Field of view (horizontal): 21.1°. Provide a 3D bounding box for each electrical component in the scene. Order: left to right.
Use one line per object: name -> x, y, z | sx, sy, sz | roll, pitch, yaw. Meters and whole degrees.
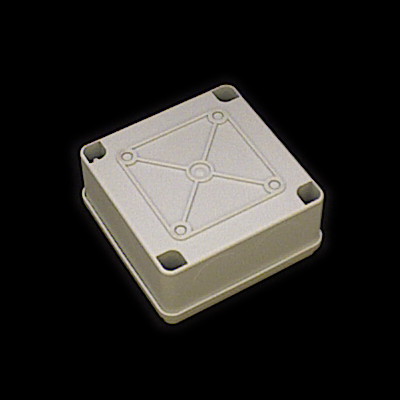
electrical component -> 0.000, 0.000, 0.628 | 0.109, 0.108, 0.056 | -25, -33, -18
